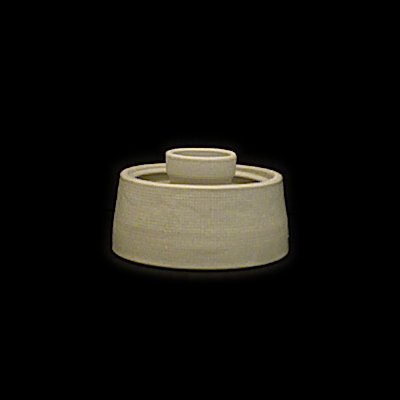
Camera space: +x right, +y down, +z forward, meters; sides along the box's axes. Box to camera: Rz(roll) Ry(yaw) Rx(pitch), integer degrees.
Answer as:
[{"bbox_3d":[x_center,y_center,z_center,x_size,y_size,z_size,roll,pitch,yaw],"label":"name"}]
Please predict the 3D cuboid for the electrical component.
[{"bbox_3d":[0.000,0.000,0.650,0.108,0.061,0.107,1,11,0],"label":"electrical component"}]
